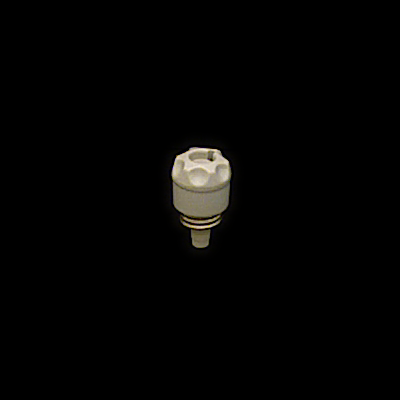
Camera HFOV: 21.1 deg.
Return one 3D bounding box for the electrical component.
[{"bbox_3d":[0.000,0.000,0.642,0.035,0.062,0.034,1,32,0],"label":"electrical component"}]
